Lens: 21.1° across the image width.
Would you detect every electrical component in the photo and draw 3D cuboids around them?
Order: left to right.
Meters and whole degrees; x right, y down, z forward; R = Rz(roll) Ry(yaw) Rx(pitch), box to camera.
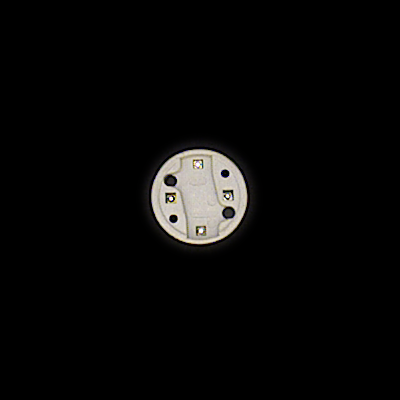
[{"bbox_3d":[0.000,0.000,0.636,0.055,0.055,0.047,0,-7,0],"label":"electrical component"}]
